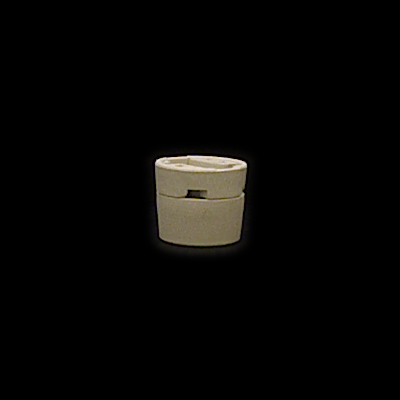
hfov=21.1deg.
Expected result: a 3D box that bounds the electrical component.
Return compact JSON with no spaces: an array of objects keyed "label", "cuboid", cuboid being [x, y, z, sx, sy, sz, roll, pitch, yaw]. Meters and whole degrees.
[{"label":"electrical component","cuboid":[0.000,0.000,0.646,0.055,0.047,0.055,1,11,0]}]
